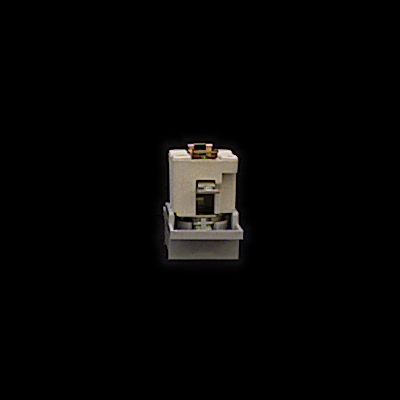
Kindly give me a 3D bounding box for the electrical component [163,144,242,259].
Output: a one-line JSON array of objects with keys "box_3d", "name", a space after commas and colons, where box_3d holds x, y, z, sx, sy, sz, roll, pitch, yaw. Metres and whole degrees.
[{"box_3d": [0.000, 0.000, 0.644, 0.042, 0.064, 0.080, 0, 11, -6], "name": "electrical component"}]
